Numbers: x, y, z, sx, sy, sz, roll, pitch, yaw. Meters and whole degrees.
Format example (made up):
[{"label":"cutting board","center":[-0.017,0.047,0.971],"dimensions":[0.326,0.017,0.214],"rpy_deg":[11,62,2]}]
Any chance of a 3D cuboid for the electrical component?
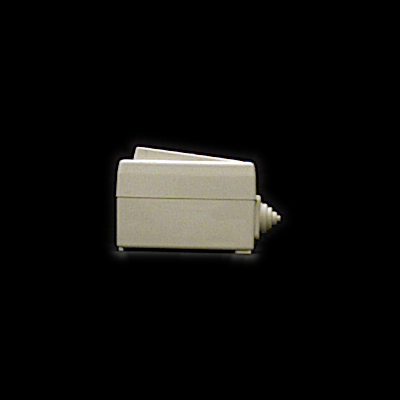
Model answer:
[{"label":"electrical component","center":[0.000,0.000,0.649],"dimensions":[0.096,0.061,0.061],"rpy_deg":[1,0,4]}]
